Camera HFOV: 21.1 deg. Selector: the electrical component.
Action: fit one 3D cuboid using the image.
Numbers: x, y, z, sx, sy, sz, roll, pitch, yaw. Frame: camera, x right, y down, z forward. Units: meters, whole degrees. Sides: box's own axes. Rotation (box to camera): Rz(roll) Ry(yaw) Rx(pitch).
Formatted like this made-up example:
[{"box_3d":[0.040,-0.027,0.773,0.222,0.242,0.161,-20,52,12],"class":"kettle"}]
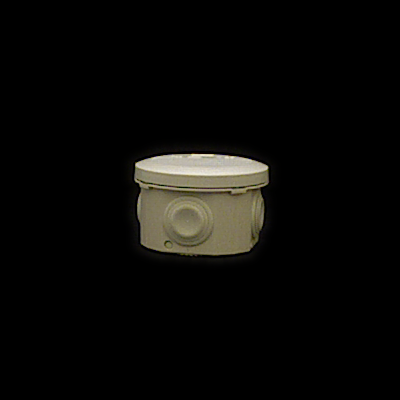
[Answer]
[{"box_3d":[0.000,0.000,0.645,0.080,0.051,0.079,1,11,0],"class":"electrical component"}]
